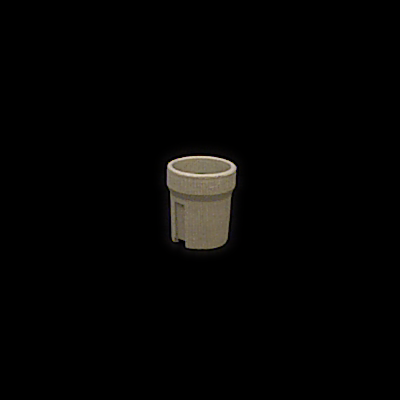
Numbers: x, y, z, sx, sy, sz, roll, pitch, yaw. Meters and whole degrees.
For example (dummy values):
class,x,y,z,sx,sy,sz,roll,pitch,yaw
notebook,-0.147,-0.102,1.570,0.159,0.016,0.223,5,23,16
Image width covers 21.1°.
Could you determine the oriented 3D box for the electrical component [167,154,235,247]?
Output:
class,x,y,z,sx,sy,sz,roll,pitch,yaw
electrical component,0.000,0.000,0.641,0.040,0.047,0.039,1,21,0
